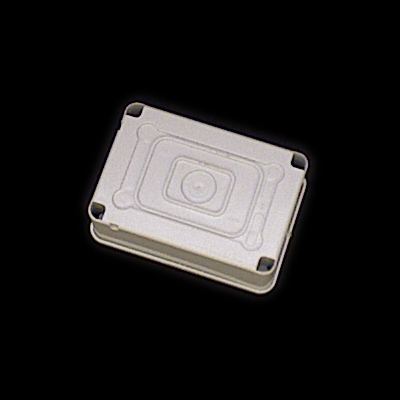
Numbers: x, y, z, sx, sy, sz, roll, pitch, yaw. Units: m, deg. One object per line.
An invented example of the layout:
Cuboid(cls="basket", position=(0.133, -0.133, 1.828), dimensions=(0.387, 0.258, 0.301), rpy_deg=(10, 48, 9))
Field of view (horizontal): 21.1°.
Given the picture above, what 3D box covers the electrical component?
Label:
Cuboid(cls="electrical component", position=(0.000, 0.000, 0.628), dimensions=(0.113, 0.078, 0.057), rpy_deg=(18, -16, 5))
